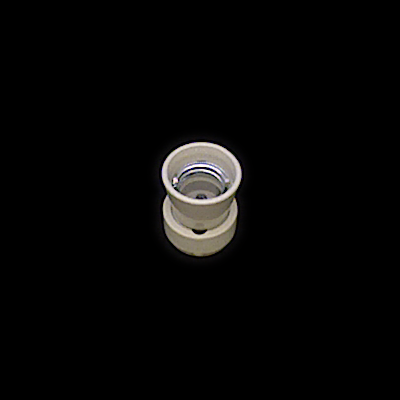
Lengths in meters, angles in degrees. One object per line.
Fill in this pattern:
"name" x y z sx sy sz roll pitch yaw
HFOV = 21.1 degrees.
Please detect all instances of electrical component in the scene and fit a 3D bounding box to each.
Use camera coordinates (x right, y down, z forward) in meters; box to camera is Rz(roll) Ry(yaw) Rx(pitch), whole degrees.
"electrical component" 0.000 0.000 0.631 0.045 0.044 0.055 0 -38 -1
